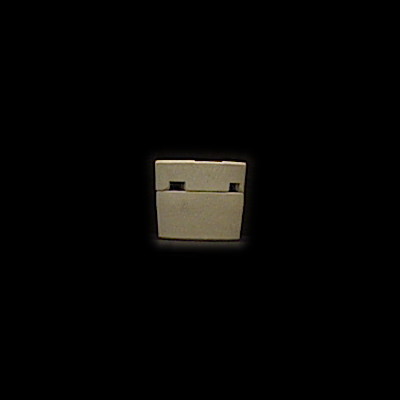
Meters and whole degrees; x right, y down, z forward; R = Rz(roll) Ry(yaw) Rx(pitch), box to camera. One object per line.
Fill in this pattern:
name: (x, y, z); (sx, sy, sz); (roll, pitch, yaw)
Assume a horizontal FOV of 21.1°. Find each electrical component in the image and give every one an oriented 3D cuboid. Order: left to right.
electrical component: (0.000, 0.000, 0.649); (0.055, 0.047, 0.055); (1, 1, 0)
